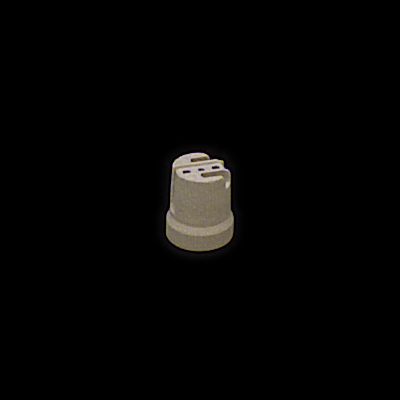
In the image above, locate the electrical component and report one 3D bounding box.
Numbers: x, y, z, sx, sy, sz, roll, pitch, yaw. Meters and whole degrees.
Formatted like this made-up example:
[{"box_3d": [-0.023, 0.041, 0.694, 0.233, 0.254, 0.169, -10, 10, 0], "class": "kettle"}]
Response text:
[{"box_3d": [0.000, 0.000, 0.638, 0.040, 0.046, 0.040, 1, 33, 0], "class": "electrical component"}]
